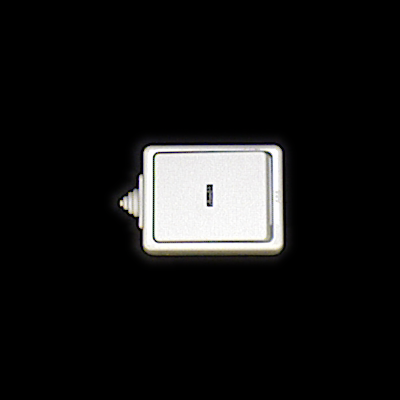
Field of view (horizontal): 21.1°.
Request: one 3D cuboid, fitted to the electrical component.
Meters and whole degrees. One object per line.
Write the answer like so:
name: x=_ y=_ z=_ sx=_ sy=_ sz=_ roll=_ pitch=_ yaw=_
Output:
electrical component: x=0.000 y=0.000 z=0.627 sx=0.096 sy=0.062 sz=0.061 roll=0 pitch=-7 yaw=0
